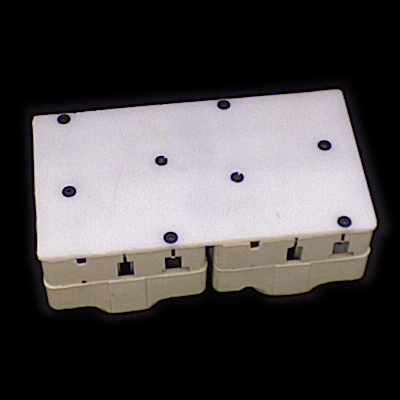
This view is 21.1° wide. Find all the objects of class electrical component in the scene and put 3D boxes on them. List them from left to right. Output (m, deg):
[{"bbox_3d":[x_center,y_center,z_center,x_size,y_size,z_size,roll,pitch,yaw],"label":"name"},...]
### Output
[{"bbox_3d":[0.000,0.000,0.627,0.186,0.105,0.060,-5,-37,-5],"label":"electrical component"}]
